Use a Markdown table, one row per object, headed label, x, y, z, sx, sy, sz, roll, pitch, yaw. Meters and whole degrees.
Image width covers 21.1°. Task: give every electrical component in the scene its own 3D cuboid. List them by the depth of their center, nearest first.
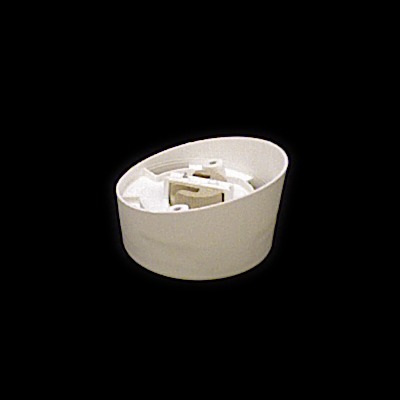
| label | x | y | z | sx | sy | sz | roll | pitch | yaw |
| --- | --- | --- | --- | --- | --- | --- | --- | --- | --- |
| electrical component | 0.000 | 0.000 | 0.633 | 0.099 | 0.065 | 0.097 | 2 | 31 | -1 |
